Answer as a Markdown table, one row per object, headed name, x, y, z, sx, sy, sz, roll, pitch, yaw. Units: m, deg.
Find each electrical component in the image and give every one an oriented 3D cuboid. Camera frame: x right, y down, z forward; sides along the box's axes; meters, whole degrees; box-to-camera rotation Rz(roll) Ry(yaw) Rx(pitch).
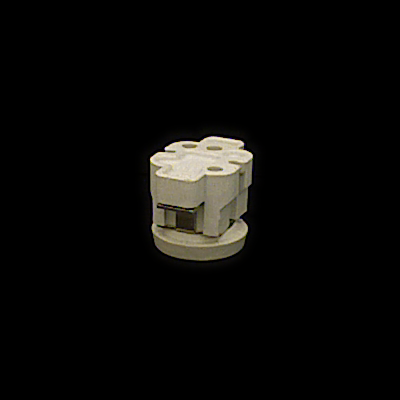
| name | x | y | z | sx | sy | sz | roll | pitch | yaw |
| --- | --- | --- | --- | --- | --- | --- | --- | --- | --- |
| electrical component | 0.000 | 0.000 | 0.644 | 0.057 | 0.057 | 0.078 | 11 | 25 | 21 |
